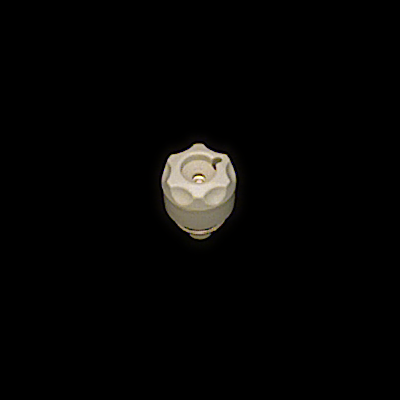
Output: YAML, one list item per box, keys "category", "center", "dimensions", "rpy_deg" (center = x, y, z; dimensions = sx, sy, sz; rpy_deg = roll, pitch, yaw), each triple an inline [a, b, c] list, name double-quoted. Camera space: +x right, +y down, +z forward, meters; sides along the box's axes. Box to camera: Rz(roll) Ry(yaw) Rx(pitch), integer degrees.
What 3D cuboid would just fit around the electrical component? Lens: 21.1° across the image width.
- category: "electrical component"
  center: [0.000, 0.000, 0.635]
  dimensions: [0.043, 0.043, 0.062]
  rpy_deg: [0, -37, 0]
